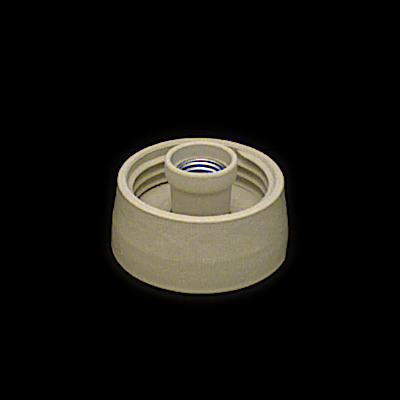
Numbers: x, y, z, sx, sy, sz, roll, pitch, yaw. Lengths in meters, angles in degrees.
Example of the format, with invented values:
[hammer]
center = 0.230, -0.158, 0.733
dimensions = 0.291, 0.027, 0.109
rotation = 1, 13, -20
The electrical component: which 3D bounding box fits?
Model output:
[electrical component]
center = 0.000, 0.000, 0.642
dimensions = 0.108, 0.061, 0.106
rotation = 1, 32, 0
